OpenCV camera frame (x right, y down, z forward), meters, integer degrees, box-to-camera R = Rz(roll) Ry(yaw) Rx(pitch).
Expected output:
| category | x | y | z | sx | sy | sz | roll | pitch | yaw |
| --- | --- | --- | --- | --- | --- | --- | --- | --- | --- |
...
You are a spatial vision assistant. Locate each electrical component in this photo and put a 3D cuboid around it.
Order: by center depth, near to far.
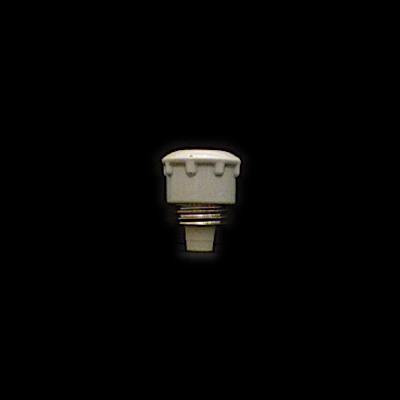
| category | x | y | z | sx | sy | sz | roll | pitch | yaw |
| --- | --- | --- | --- | --- | --- | --- | --- | --- | --- |
| electrical component | 0.000 | 0.000 | 0.654 | 0.048 | 0.062 | 0.048 | 1 | 1 | 0 |
